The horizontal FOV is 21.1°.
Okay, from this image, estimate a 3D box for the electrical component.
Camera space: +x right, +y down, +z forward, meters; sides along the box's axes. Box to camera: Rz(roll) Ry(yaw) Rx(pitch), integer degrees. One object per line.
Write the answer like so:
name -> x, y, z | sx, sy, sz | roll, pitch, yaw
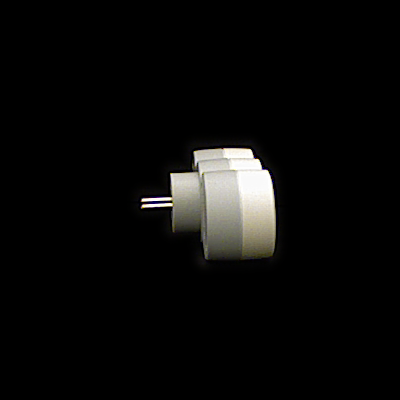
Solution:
electrical component -> 0.000, 0.000, 0.653 | 0.074, 0.052, 0.137 | -1, 11, -4
